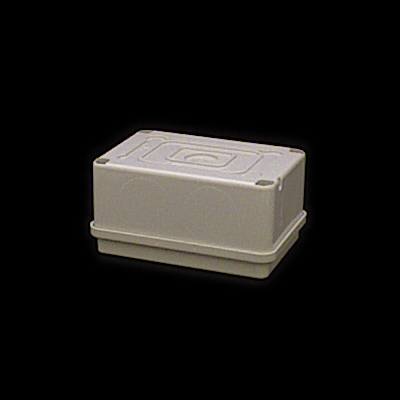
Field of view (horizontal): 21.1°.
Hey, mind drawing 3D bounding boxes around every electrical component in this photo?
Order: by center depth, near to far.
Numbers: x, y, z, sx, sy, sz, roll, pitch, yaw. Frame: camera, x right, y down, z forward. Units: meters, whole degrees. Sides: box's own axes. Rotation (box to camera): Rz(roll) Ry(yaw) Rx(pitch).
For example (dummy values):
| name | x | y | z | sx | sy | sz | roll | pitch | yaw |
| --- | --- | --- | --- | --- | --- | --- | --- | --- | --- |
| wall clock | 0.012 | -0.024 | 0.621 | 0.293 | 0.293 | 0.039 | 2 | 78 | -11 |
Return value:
| name | x | y | z | sx | sy | sz | roll | pitch | yaw |
| --- | --- | --- | --- | --- | --- | --- | --- | --- | --- |
| electrical component | 0.000 | 0.000 | 0.639 | 0.113 | 0.058 | 0.077 | 8 | 22 | 19 |
